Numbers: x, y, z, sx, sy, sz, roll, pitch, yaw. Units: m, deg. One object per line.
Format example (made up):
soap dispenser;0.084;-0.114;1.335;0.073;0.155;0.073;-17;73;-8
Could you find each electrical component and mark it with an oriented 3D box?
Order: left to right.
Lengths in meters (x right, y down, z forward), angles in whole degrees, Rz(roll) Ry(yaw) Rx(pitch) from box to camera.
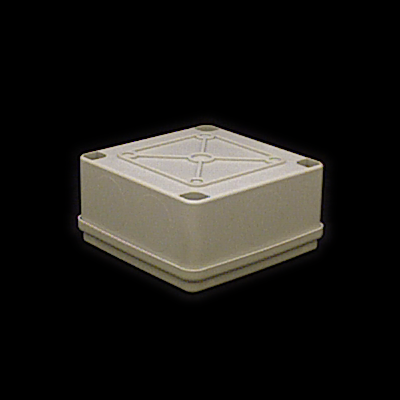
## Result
electrical component;0.000;0.000;0.637;0.108;0.057;0.107;-17;28;-39
